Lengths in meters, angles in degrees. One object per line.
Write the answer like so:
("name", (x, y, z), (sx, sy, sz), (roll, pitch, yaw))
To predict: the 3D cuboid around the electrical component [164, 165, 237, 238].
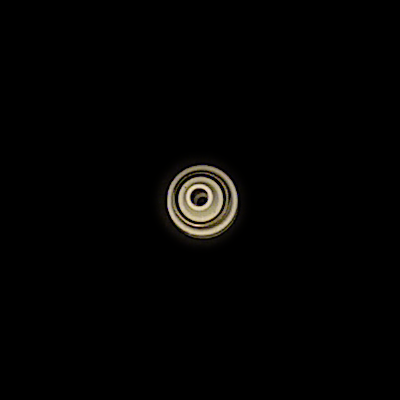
("electrical component", (0.000, 0.000, 0.635), (0.043, 0.043, 0.062), (0, -5, 2))
